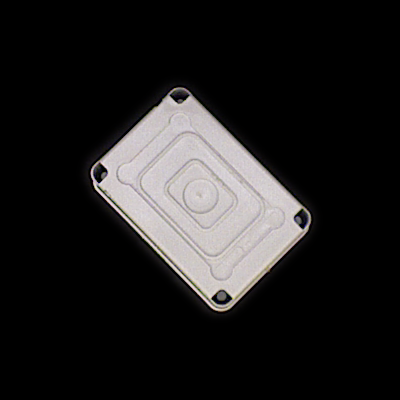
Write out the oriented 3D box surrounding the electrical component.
[{"bbox_3d":[0.000,0.000,0.629,0.078,0.113,0.057,-44,-4,-4],"label":"electrical component"}]
